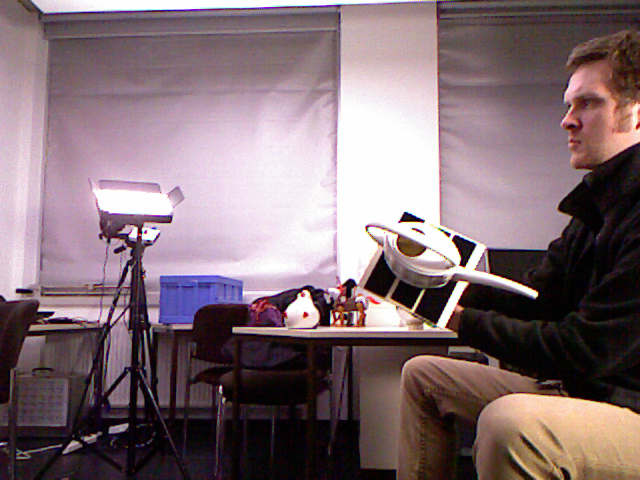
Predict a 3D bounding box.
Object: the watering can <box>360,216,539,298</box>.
[{"bbox_3d":[0.237,0.047,1.030,0.350,0.105,0.222,26,-11,11],"label":"watering can"}]
